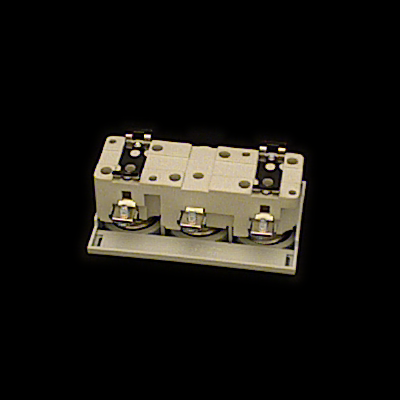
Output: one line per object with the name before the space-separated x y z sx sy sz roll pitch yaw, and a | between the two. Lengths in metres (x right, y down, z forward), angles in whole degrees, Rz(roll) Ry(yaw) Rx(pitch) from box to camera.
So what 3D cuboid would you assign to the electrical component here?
electrical component | 0.000 0.000 0.640 0.121 0.063 0.078 6 42 5
